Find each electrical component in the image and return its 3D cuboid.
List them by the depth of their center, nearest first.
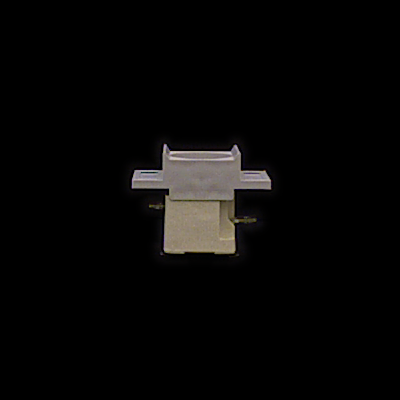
[{"bbox_3d":[0.000,0.000,0.644,0.081,0.064,0.042,1,10,-1],"label":"electrical component"}]
